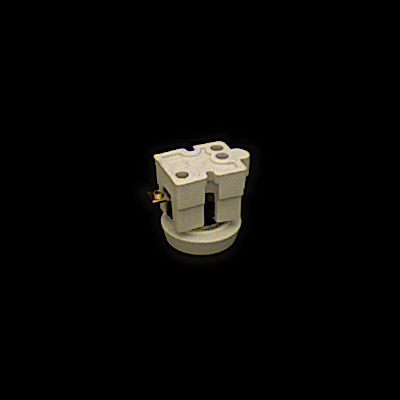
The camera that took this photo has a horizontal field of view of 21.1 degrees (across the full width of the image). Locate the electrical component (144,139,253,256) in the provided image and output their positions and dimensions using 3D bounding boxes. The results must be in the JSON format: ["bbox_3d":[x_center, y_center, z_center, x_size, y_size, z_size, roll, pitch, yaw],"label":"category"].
[{"bbox_3d":[0.000,0.000,0.644,0.067,0.056,0.047,-13,36,-19],"label":"electrical component"}]
